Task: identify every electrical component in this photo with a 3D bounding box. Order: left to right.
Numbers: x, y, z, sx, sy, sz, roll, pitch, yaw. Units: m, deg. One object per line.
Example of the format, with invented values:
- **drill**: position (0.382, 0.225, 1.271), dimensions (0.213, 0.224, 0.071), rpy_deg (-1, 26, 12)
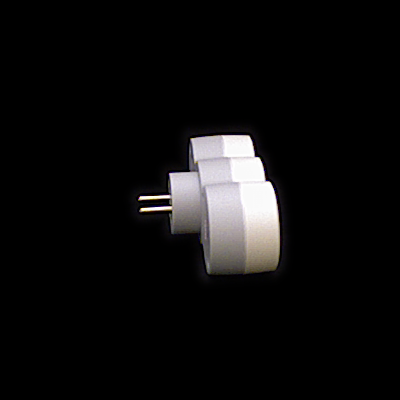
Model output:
- **electrical component**: position (0.000, 0.000, 0.638), dimensions (0.074, 0.053, 0.136), rpy_deg (-3, 22, -5)
